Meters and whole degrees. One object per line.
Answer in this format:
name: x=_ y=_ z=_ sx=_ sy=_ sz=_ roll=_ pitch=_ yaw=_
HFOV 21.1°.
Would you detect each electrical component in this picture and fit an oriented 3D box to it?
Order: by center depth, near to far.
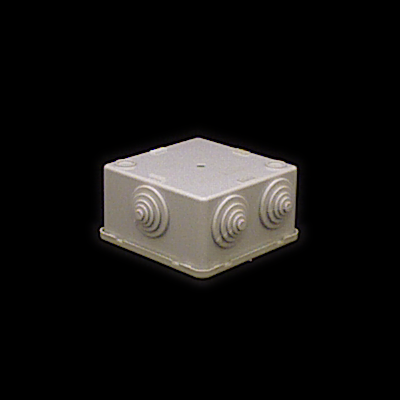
electrical component: x=0.000 y=0.000 z=0.642 sx=0.099 sy=0.049 sz=0.099 roll=20 pitch=28 yaw=39
